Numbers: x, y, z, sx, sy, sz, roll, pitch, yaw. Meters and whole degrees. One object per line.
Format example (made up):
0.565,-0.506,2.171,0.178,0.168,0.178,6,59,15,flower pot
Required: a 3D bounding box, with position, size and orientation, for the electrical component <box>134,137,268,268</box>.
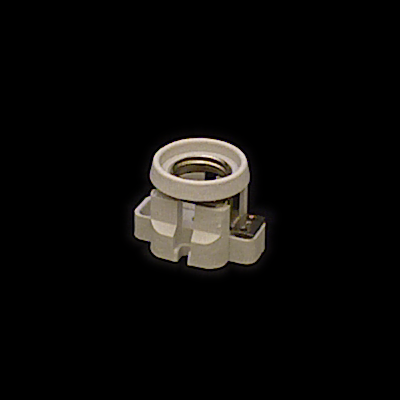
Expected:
0.000,0.000,0.635,0.078,0.057,0.057,13,33,18,electrical component
